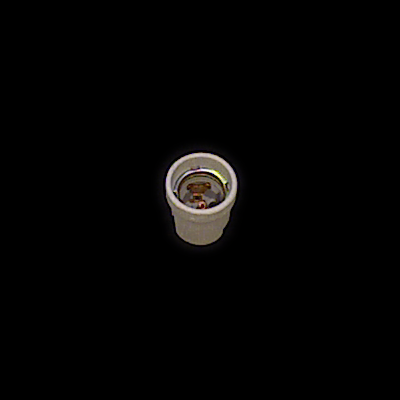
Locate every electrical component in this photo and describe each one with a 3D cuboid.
[{"bbox_3d":[0.000,0.000,0.628,0.040,0.040,0.046,0,-27,-1],"label":"electrical component"}]
